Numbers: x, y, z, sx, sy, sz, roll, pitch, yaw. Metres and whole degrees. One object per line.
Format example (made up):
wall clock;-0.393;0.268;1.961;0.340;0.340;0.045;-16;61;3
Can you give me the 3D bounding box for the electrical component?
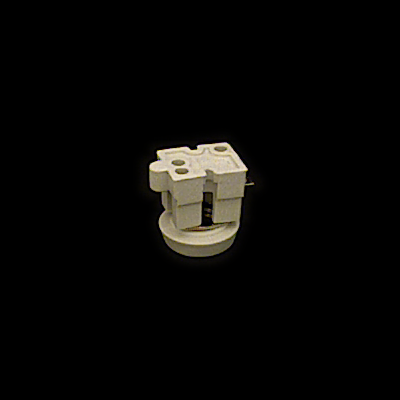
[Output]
electrical component;0.000;0.000;0.642;0.067;0.056;0.047;-9;32;-16
